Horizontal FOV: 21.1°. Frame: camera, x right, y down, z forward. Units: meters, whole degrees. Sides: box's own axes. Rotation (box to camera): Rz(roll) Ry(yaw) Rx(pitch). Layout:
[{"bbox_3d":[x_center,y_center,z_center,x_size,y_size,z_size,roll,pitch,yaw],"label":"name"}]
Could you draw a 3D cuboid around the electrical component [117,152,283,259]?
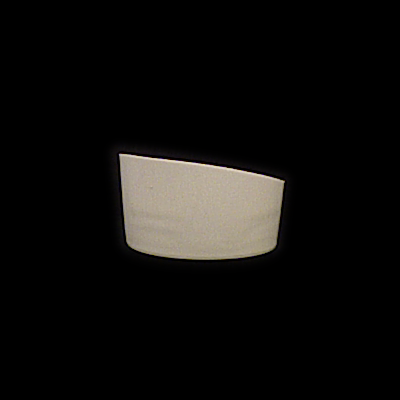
[{"bbox_3d":[0.000,0.000,0.642,0.099,0.064,0.098,1,11,0],"label":"electrical component"}]
